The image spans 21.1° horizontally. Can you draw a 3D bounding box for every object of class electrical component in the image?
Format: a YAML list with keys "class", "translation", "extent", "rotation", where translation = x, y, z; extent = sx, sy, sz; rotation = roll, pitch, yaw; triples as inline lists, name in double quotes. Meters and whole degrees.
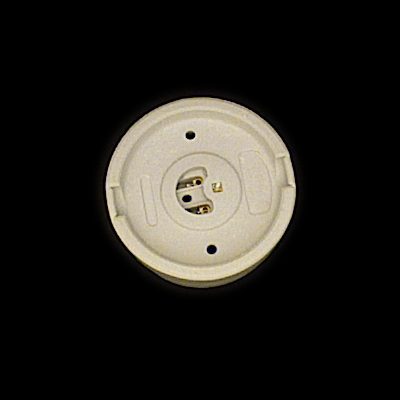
- class: "electrical component"
  translation: [0.000, 0.000, 0.634]
  extent: [0.108, 0.108, 0.060]
  rotation: [0, -16, 1]
